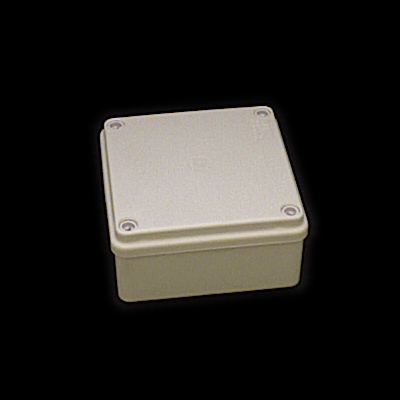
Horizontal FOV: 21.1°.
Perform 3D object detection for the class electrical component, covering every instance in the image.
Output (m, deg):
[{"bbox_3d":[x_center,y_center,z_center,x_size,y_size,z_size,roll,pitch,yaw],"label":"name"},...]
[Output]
[{"bbox_3d":[0.000,0.000,0.631,0.109,0.056,0.107,-5,42,-6],"label":"electrical component"}]
